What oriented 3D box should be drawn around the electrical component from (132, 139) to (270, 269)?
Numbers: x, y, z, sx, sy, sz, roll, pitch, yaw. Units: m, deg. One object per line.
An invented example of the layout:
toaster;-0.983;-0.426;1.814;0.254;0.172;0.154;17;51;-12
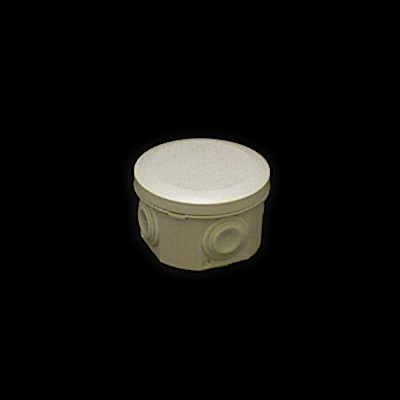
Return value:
electrical component;0.000;0.000;0.638;0.080;0.051;0.079;1;31;0
